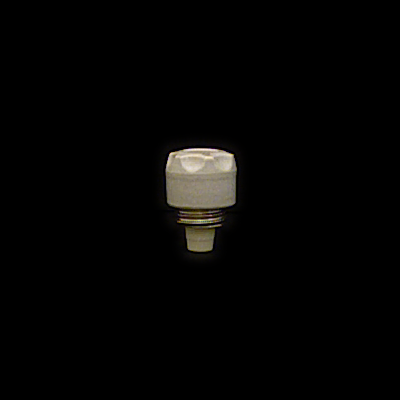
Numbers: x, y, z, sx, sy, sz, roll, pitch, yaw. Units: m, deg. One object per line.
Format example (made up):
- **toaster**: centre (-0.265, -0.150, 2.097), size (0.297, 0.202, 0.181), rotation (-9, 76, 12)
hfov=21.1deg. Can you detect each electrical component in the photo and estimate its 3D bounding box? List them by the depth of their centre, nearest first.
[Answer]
- **electrical component**: centre (0.000, 0.000, 0.651), size (0.043, 0.062, 0.043), rotation (1, 11, 0)
